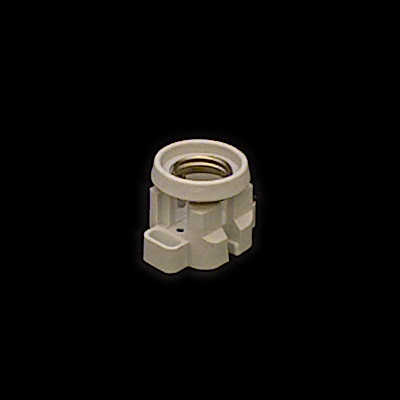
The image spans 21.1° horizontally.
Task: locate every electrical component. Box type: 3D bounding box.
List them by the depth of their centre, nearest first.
[{"bbox_3d":[0.000,0.000,0.637,0.057,0.057,0.078,26,39,35],"label":"electrical component"}]
